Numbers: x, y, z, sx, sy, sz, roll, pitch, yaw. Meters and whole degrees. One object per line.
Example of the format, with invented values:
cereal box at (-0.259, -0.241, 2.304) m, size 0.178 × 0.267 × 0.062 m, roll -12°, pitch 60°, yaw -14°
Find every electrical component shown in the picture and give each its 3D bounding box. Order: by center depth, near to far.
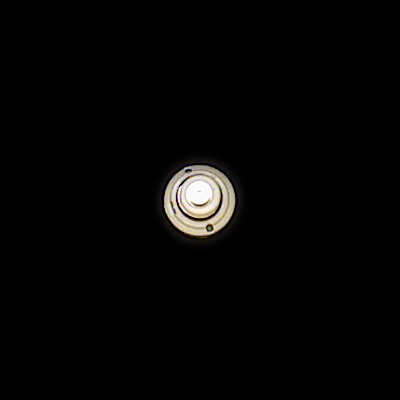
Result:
electrical component at (0.000, 0.000, 0.618) m, size 0.040 × 0.040 × 0.078 m, roll 0°, pitch -5°, yaw -1°
